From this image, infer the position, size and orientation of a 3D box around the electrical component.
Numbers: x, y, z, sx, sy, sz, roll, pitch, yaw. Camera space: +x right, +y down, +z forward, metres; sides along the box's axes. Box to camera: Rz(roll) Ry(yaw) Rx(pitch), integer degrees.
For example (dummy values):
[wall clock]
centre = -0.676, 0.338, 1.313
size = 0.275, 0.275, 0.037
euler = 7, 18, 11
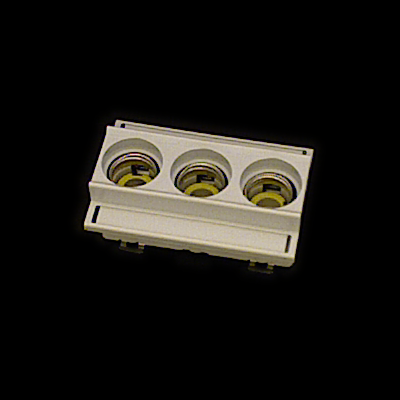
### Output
[electrical component]
centre = 0.000, 0.000, 0.638
size = 0.121, 0.078, 0.063
euler = 9, -35, 7
